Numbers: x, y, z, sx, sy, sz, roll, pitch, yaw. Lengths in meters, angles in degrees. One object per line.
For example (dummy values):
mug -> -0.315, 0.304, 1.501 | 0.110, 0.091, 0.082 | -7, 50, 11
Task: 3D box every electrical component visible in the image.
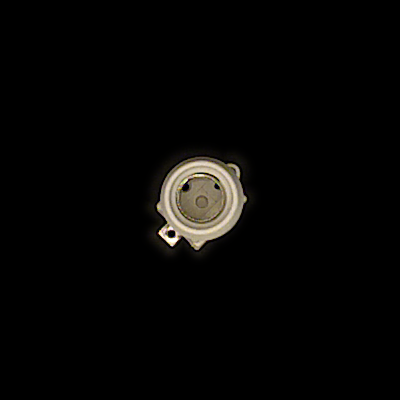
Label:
electrical component -> 0.000, 0.000, 0.638 | 0.048, 0.066, 0.055 | 43, -4, 6
